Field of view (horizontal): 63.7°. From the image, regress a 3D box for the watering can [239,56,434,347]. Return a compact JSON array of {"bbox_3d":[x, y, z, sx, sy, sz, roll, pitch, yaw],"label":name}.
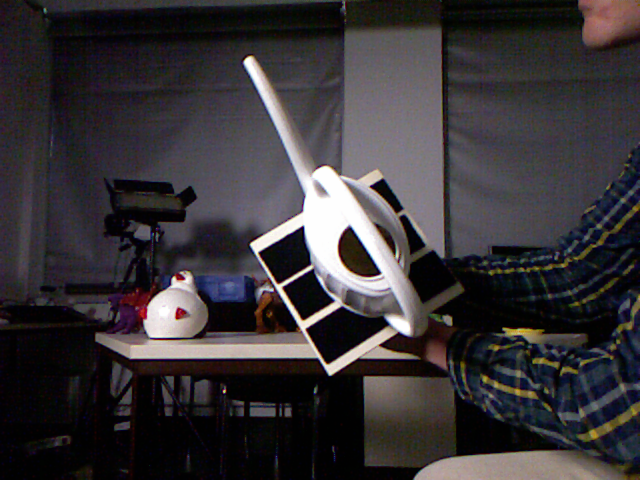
[{"bbox_3d":[0.014,-0.031,0.595,0.106,0.354,0.223,-30,-12,-11],"label":"watering can"}]
